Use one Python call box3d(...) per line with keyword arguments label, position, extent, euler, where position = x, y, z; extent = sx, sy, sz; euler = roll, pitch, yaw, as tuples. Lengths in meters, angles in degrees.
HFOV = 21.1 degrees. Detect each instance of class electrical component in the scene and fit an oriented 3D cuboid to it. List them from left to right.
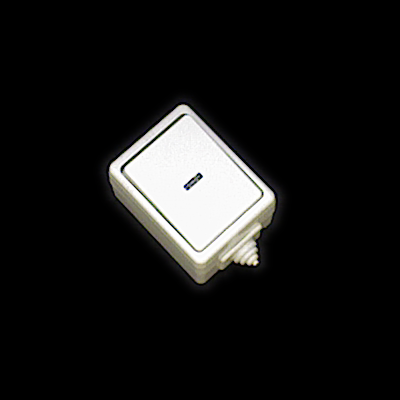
box3d(label="electrical component", position=(0.000, 0.000, 0.625), extent=(0.062, 0.096, 0.060), euler=(-42, -12, -11))
